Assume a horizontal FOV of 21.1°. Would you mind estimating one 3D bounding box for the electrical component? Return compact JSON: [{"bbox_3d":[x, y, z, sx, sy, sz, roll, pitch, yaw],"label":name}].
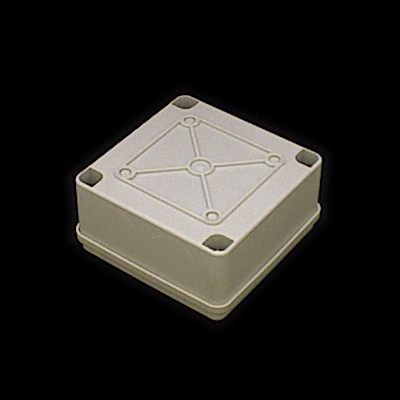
[{"bbox_3d":[0.000,0.000,0.630,0.108,0.056,0.108,27,48,26],"label":"electrical component"}]
